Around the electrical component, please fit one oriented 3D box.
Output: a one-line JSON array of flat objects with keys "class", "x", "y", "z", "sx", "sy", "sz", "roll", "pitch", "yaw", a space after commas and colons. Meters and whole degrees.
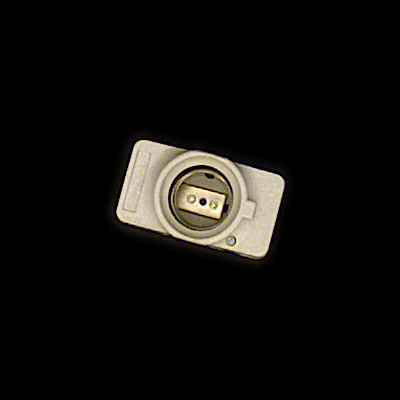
[{"class": "electrical component", "x": 0.000, "y": 0.000, "z": 0.637, "sx": 0.089, "sy": 0.050, "sz": 0.055, "roll": 14, "pitch": -5, "yaw": 2}]
